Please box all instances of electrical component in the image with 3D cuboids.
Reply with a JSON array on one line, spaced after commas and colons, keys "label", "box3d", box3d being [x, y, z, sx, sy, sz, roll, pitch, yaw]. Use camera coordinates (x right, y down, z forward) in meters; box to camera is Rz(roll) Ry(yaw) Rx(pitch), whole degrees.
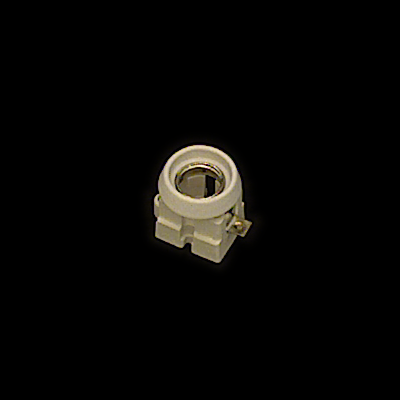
[{"label": "electrical component", "box3d": [0.000, 0.000, 0.638, 0.066, 0.048, 0.056, 21, -32, 15]}]
